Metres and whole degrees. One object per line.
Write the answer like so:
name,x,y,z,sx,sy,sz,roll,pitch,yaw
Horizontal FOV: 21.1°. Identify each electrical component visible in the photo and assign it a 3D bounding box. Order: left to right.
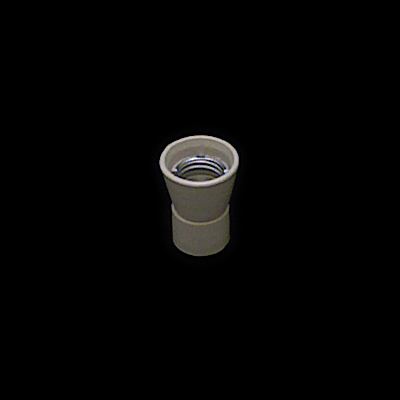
electrical component,0.000,0.000,0.629,0.044,0.066,0.044,0,42,1
